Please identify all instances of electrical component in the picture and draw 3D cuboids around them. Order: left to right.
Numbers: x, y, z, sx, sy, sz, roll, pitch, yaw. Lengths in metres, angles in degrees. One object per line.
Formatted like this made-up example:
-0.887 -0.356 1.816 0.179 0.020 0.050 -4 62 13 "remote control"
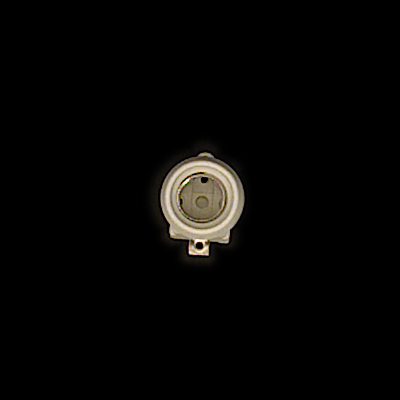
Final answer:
0.000 0.000 0.639 0.048 0.066 0.055 3 -6 3 "electrical component"
